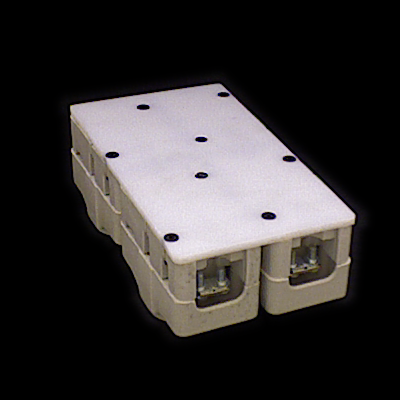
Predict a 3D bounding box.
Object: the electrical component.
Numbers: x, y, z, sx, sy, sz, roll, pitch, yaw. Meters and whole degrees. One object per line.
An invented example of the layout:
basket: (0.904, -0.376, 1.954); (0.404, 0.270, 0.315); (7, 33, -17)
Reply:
electrical component: (0.000, 0.000, 0.633); (0.105, 0.061, 0.183); (-11, 33, -20)
